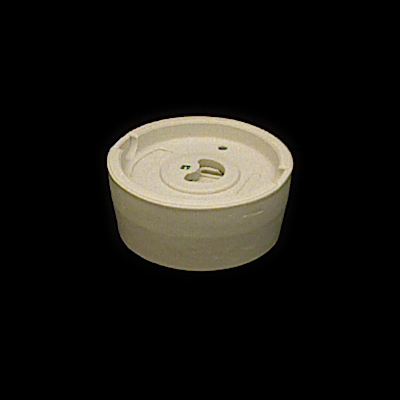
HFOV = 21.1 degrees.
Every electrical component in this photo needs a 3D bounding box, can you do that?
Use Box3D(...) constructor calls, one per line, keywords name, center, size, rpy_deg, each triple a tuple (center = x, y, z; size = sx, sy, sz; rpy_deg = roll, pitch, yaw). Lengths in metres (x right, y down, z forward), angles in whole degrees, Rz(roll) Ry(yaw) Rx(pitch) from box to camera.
Box3D(name="electrical component", center=(0.000, 0.000, 0.640), size=(0.108, 0.061, 0.106), rpy_deg=(2, 32, 0))
